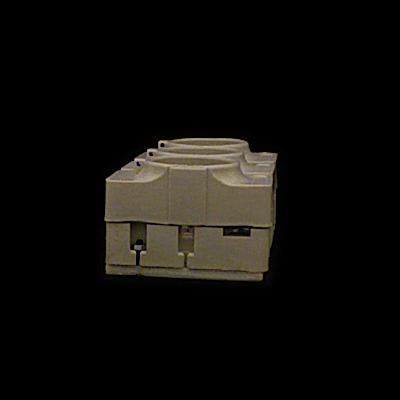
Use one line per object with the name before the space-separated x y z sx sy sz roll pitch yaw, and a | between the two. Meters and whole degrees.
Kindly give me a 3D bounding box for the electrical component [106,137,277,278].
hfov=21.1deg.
electrical component | 0.000 0.000 0.650 0.089 0.062 0.148 2 9 5
